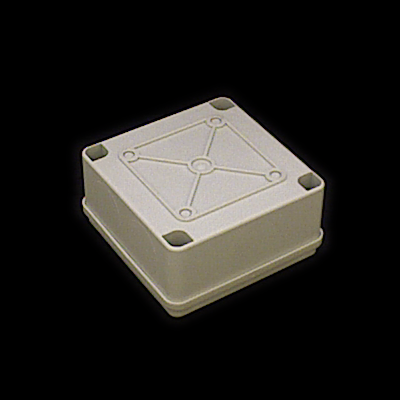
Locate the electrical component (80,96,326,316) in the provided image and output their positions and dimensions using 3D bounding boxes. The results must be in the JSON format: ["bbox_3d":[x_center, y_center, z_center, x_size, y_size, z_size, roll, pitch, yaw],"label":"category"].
[{"bbox_3d":[0.000,0.000,0.634,0.109,0.057,0.107,-23,47,-25],"label":"electrical component"}]
